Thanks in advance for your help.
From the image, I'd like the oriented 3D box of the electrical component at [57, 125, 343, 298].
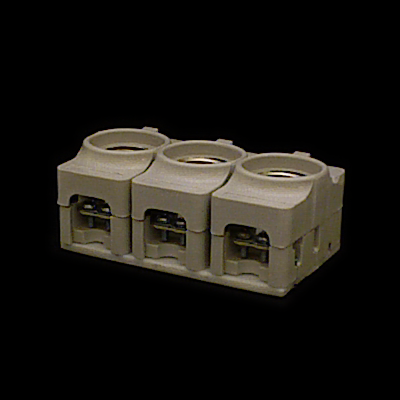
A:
[{"bbox_3d":[0.000,0.000,0.647,0.149,0.063,0.088,11,22,24],"label":"electrical component"}]
